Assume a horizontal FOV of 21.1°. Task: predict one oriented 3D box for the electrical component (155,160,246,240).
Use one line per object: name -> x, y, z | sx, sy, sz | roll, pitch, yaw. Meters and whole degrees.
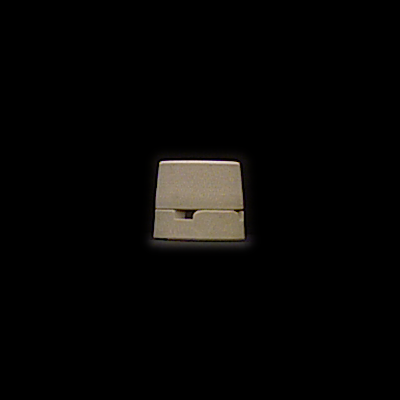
electrical component -> 0.000, 0.000, 0.649 | 0.055, 0.047, 0.055 | 0, 1, 0
